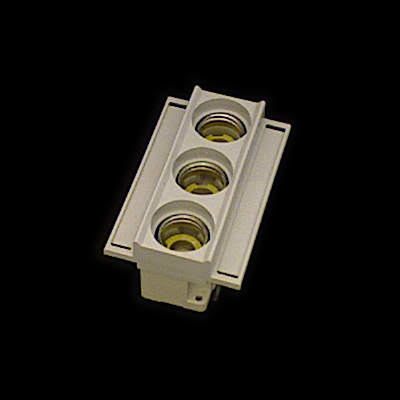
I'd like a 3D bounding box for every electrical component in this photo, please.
[{"bbox_3d":[0.000,0.000,0.640,0.078,0.120,0.063,14,-36,9],"label":"electrical component"}]
